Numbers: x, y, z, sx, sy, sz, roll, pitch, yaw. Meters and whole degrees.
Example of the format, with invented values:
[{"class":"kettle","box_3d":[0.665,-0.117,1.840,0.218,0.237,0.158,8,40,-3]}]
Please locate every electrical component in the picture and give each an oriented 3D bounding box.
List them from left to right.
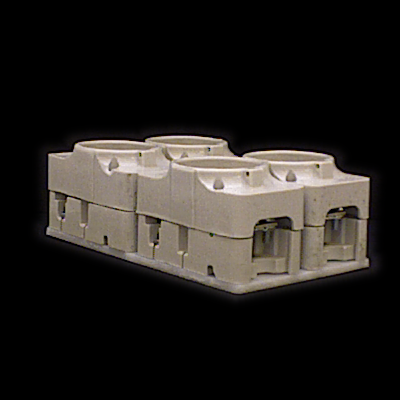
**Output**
[{"class":"electrical component","box_3d":[0.000,0.000,0.645,0.105,0.061,0.185,-7,13,-40]}]
